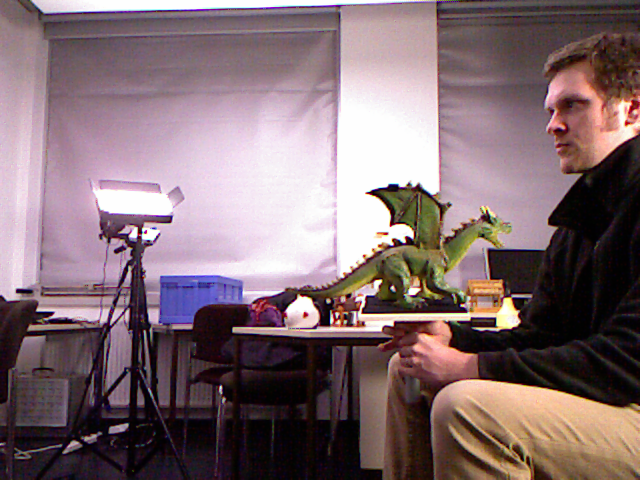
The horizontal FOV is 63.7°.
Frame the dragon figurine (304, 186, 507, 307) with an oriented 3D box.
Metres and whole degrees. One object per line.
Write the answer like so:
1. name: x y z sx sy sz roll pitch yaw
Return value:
1. dragon figurine: 0.166 0.011 1.032 0.411 0.241 0.123 -1 8 5
